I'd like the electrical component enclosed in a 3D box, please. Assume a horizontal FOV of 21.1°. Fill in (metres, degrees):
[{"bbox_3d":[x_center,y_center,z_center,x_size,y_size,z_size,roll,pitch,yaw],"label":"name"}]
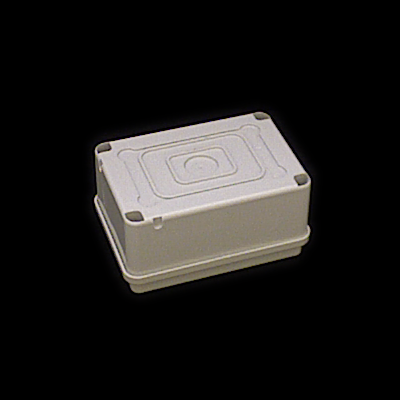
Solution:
[{"bbox_3d":[0.000,0.000,0.632,0.113,0.057,0.077,-12,43,-15],"label":"electrical component"}]
